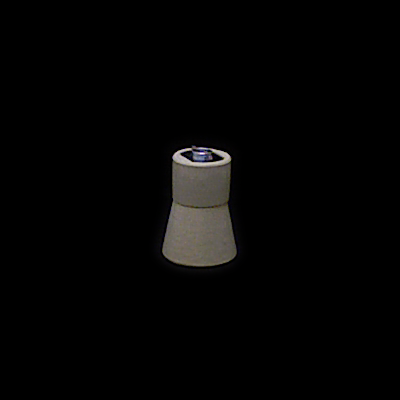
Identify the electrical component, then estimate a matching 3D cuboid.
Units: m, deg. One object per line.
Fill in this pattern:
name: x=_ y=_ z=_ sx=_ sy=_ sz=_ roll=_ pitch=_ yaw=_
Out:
electrical component: x=0.000 y=0.000 z=0.638 sx=0.044 sy=0.066 sz=0.044 roll=2 pitch=21 yaw=-1
